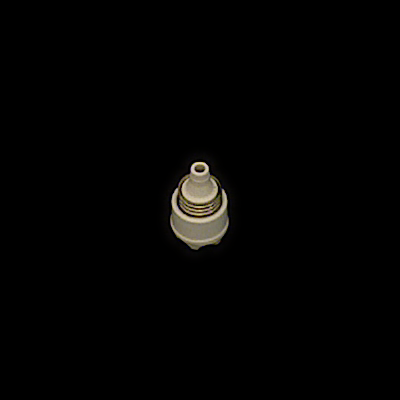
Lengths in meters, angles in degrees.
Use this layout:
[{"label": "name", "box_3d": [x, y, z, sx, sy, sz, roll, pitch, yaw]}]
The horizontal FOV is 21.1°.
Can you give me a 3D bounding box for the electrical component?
[{"label": "electrical component", "box_3d": [0.000, 0.000, 0.639, 0.035, 0.035, 0.062, 0, -38, -1]}]
